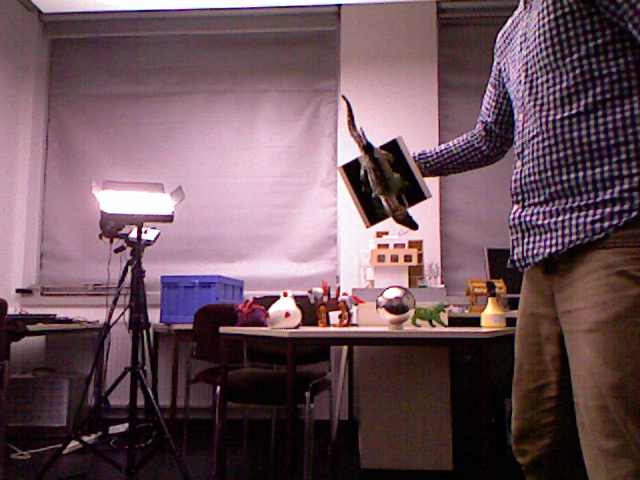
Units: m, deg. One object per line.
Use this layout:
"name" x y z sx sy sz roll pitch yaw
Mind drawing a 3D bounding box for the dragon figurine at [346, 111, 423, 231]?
"dragon figurine" 0.148 -0.193 1.354 0.122 0.414 0.242 -30 -9 5
